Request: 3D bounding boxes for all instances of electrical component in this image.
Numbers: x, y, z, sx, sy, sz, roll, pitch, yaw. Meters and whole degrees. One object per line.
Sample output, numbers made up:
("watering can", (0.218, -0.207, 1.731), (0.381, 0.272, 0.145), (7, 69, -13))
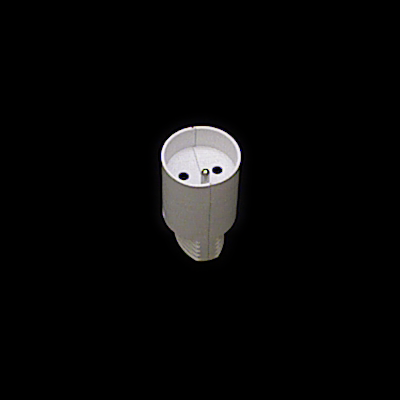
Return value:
("electrical component", (0.000, 0.000, 0.618), (0.043, 0.043, 0.081), (0, -37, 0))
